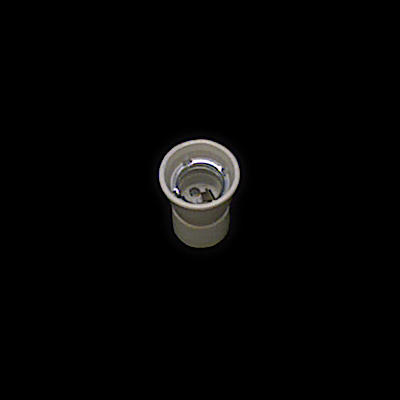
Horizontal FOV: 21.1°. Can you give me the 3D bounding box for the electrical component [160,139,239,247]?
[{"bbox_3d":[0.000,0.000,0.625,0.044,0.044,0.065,0,-28,1],"label":"electrical component"}]
